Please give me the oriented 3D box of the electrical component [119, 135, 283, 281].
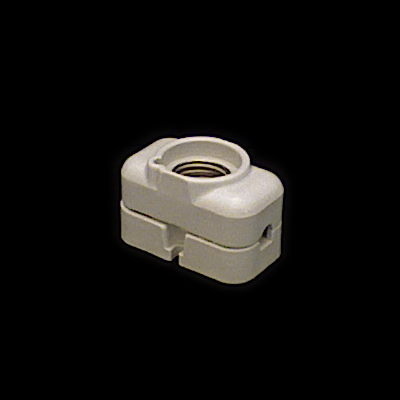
[{"bbox_3d":[0.000,0.000,0.640,0.094,0.060,0.053,20,37,28],"label":"electrical component"}]
